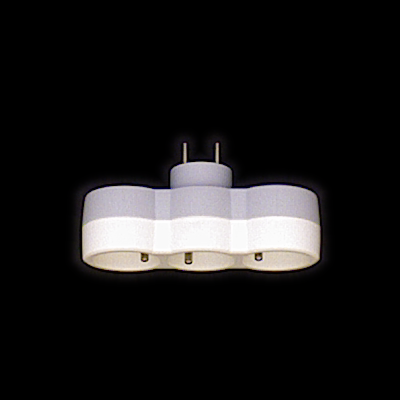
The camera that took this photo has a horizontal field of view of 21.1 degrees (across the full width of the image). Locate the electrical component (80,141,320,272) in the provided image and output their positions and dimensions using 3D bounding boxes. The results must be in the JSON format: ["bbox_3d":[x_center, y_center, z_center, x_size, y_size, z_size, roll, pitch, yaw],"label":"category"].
[{"bbox_3d":[0.000,0.000,0.630,0.138,0.074,0.052,0,-19,1],"label":"electrical component"}]
